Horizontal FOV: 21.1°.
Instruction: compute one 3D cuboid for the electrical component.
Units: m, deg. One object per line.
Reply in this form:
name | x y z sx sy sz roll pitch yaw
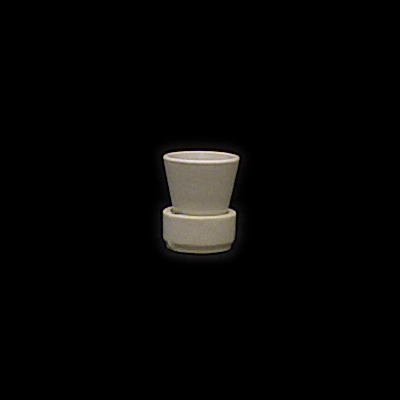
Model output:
electrical component | 0.000 0.000 0.645 0.045 0.055 0.044 1 12 0
